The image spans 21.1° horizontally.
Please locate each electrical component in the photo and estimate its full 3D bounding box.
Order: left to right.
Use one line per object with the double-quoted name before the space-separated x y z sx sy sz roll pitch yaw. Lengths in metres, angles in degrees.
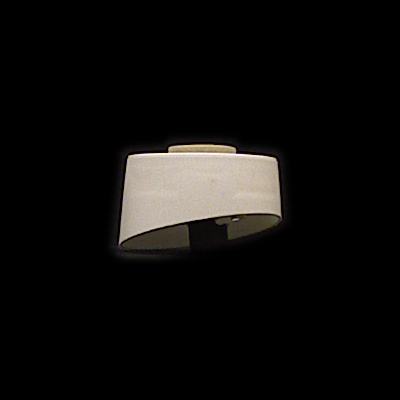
"electrical component" 0.000 0.000 0.650 0.099 0.064 0.099 1 0 0
